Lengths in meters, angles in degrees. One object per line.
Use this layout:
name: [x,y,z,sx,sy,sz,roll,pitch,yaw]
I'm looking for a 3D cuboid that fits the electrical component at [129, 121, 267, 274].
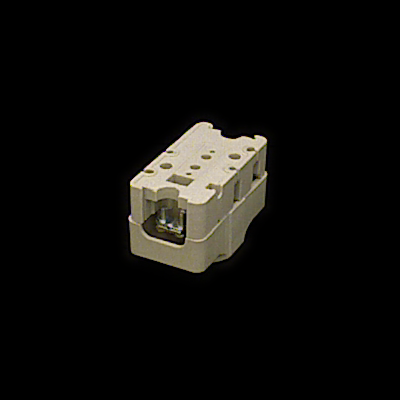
electrical component: [0.000,0.000,0.642,0.050,0.056,0.089,17,36,22]
